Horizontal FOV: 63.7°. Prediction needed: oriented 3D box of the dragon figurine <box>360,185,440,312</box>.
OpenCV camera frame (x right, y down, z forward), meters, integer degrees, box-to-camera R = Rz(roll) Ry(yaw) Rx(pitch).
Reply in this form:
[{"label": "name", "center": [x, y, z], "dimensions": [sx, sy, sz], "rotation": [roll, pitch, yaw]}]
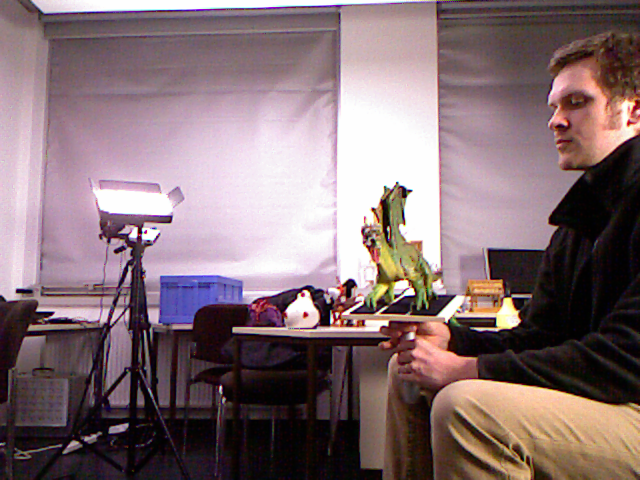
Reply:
[{"label": "dragon figurine", "center": [0.174, 0.008, 1.053], "dimensions": [0.122, 0.242, 0.413], "rotation": [0, 8, 27]}]
